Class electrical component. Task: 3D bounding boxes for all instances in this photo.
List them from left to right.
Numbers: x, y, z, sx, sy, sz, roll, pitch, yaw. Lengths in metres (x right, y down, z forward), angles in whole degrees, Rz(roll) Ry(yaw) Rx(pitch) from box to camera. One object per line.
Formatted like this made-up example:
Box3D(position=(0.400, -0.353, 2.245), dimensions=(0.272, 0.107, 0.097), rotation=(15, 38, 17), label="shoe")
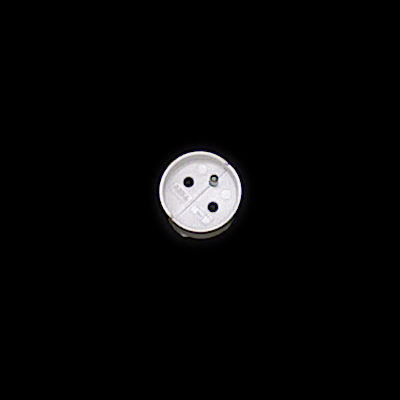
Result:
Box3D(position=(0.000, 0.000, 0.616), dimensions=(0.043, 0.043, 0.080), rotation=(0, -6, -1), label="electrical component")
